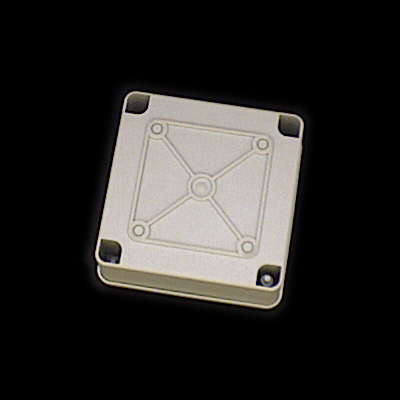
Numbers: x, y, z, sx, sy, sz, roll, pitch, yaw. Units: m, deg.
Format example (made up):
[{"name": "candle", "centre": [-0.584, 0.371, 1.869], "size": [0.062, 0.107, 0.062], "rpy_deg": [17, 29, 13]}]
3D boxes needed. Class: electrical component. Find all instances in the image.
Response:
[{"name": "electrical component", "centre": [0.000, 0.000, 0.627], "size": [0.109, 0.109, 0.056], "rpy_deg": [9, -16, 2]}]
